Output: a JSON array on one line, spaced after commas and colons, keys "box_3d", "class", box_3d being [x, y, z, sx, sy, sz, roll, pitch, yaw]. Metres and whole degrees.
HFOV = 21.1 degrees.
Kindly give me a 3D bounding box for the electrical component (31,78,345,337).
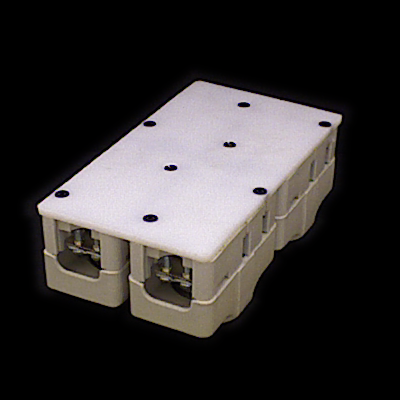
[{"box_3d": [0.000, 0.000, 0.634, 0.105, 0.061, 0.184, 16, 34, 23], "class": "electrical component"}]
